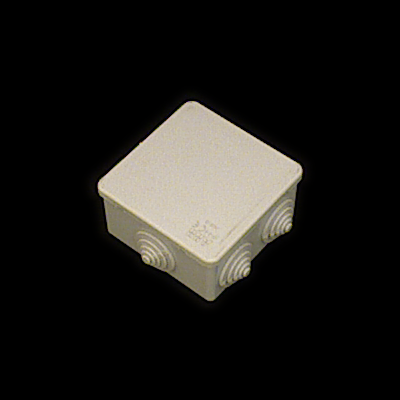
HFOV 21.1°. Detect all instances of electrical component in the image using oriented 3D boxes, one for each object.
[{"bbox_3d":[0.000,0.000,0.639,0.099,0.100,0.048,33,-30,22],"label":"electrical component"}]
